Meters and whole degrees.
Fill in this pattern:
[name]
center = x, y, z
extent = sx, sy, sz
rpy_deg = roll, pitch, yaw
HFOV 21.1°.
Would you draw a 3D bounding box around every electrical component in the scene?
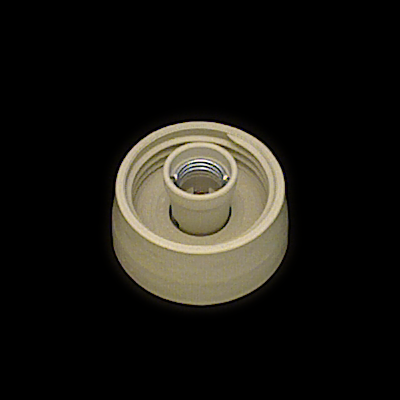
[electrical component]
center = 0.000, 0.000, 0.636
extent = 0.108, 0.107, 0.060
rpy_deg = 0, -37, -1
